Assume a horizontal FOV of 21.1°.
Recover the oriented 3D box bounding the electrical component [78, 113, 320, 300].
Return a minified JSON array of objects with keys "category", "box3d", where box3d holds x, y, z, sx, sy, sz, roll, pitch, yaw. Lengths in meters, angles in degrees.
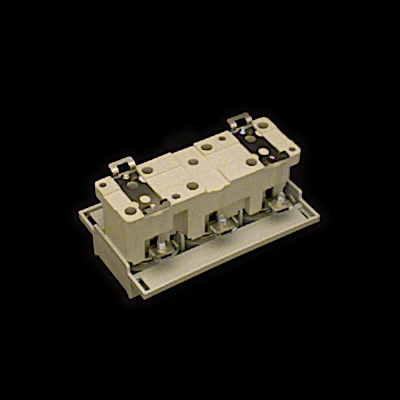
[{"category":"electrical component","box3d":[0.000,0.000,0.636,0.122,0.063,0.078,-23,48,-24]}]
